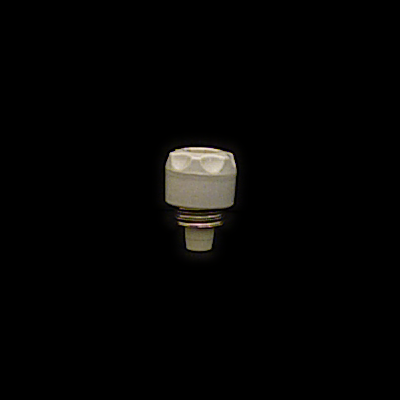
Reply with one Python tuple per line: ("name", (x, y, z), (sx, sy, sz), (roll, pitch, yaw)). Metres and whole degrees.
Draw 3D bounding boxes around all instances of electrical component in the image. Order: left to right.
("electrical component", (0.000, 0.000, 0.651), (0.043, 0.062, 0.043), (2, 12, 0))
